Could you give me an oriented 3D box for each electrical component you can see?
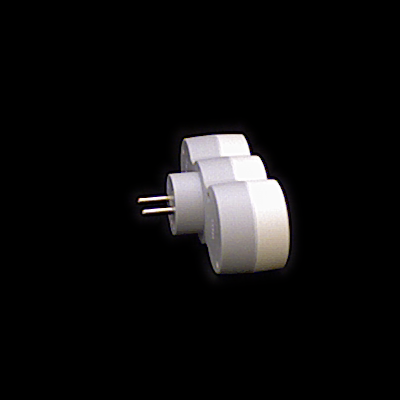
[{"bbox_3d":[0.000,0.000,0.638,0.074,0.053,0.136,-5,22,-9],"label":"electrical component"}]
